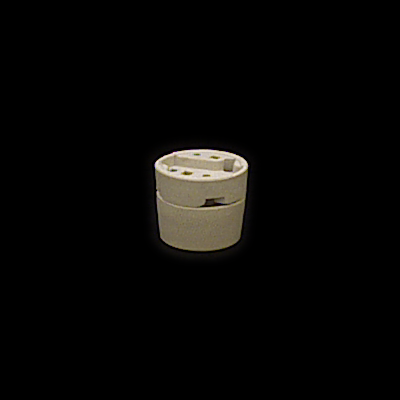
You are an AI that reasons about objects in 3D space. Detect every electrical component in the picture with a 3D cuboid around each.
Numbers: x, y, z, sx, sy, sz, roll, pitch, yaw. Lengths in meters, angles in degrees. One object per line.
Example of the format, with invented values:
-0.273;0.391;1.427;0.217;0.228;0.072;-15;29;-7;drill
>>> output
0.000;0.000;0.641;0.055;0.047;0.055;1;21;0;electrical component
